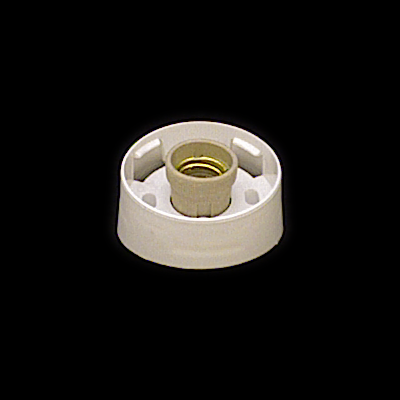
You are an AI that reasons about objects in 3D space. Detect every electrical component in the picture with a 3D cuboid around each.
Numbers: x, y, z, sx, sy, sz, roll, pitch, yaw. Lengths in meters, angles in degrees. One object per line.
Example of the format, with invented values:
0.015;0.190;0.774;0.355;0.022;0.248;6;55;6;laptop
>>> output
0.000;0.000;0.629;0.099;0.064;0.098;1;41;0;electrical component
